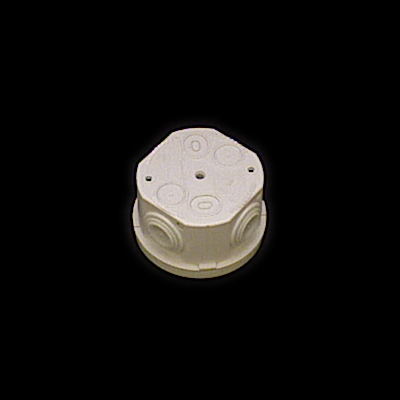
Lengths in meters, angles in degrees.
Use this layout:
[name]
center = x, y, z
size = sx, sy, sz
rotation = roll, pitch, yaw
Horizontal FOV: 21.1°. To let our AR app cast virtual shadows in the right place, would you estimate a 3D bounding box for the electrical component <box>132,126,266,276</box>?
[electrical component]
center = 0.000, 0.000, 0.633
size = 0.080, 0.080, 0.051
rotation = 0, -38, -1
